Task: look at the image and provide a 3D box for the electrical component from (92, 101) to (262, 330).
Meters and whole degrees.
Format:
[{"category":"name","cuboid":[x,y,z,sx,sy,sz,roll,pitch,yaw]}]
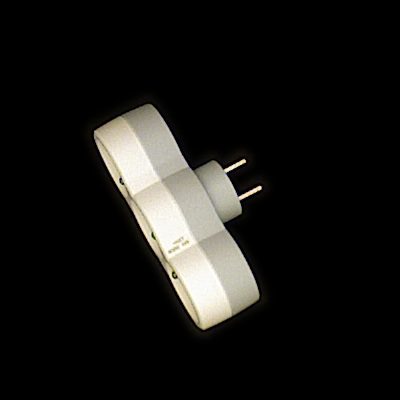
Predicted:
[{"category":"electrical component","cuboid":[0.000,0.000,0.638,0.074,0.138,0.052,-28,-14,-9]}]
